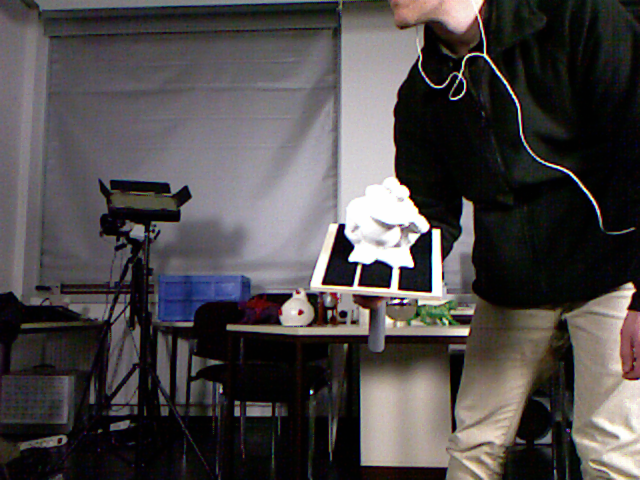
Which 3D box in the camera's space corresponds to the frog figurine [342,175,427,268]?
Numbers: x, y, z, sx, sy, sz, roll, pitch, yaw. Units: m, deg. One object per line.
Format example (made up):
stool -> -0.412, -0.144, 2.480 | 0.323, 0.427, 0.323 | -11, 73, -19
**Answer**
frog figurine -> 0.103, -0.042, 0.835 | 0.138, 0.156, 0.125 | 15, 36, 24
